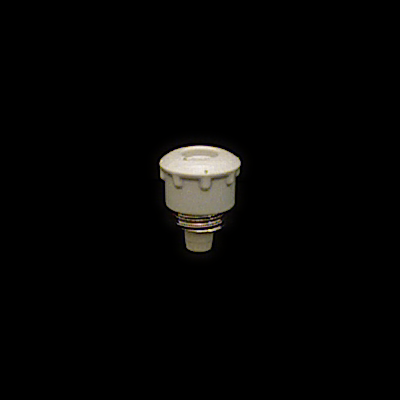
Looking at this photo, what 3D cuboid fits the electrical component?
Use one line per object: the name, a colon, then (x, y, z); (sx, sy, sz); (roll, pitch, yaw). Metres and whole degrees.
electrical component: (0.000, 0.000, 0.644); (0.048, 0.062, 0.047); (1, 22, 0)
